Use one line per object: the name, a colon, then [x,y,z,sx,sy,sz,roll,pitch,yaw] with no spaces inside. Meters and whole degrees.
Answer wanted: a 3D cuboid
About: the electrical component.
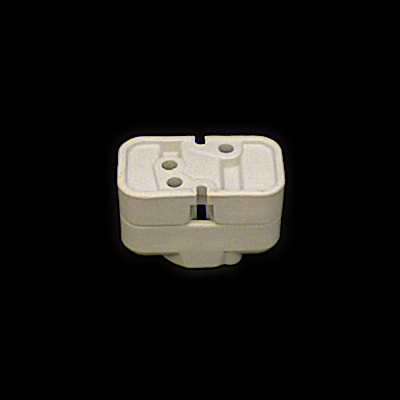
electrical component: [0.000,0.000,0.637,0.095,0.060,0.053,-1,43,-2]
